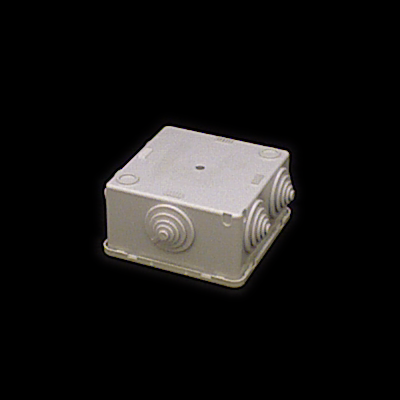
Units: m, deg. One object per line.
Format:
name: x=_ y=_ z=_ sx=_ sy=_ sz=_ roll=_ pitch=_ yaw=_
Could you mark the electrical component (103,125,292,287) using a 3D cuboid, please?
electrical component: x=0.000 y=0.000 z=0.636 sx=0.099 sy=0.049 sz=0.099 roll=13 pitch=34 yaw=19
